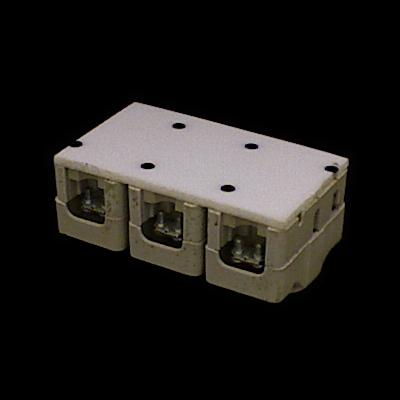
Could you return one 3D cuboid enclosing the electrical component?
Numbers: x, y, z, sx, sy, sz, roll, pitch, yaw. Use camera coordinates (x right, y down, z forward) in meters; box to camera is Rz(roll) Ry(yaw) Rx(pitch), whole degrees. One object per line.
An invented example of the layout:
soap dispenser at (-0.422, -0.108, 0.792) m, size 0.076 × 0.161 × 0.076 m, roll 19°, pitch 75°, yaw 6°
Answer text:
electrical component at (0.000, 0.000, 0.640) m, size 0.149 × 0.063 × 0.088 m, roll 17°, pitch 34°, yaw 25°
